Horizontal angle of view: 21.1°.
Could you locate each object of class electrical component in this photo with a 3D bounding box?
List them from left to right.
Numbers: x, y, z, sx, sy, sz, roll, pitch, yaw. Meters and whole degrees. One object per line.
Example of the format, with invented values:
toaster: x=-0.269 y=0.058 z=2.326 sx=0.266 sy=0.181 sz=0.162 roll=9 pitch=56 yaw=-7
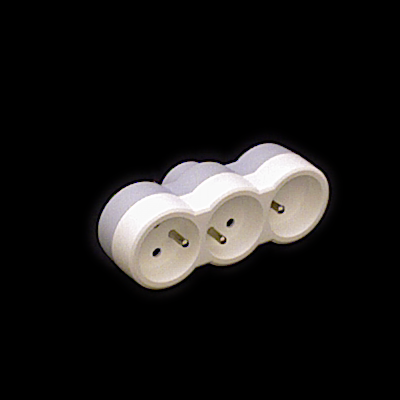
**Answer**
electrical component: x=0.000 y=0.000 z=0.635 sx=0.138 sy=0.053 sz=0.073 roll=-19 pitch=35 yaw=-28
